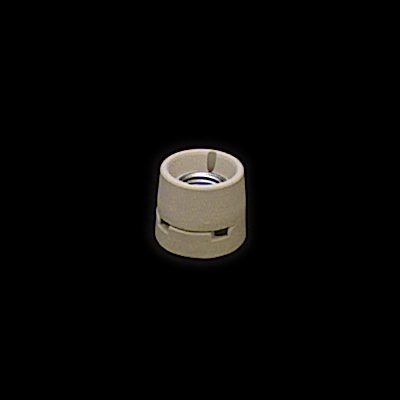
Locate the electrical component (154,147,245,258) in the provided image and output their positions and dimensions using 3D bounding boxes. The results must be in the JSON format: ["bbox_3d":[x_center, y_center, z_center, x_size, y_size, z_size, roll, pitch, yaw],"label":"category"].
[{"bbox_3d":[0.000,0.000,0.639,0.055,0.047,0.055,1,31,-1],"label":"electrical component"}]
